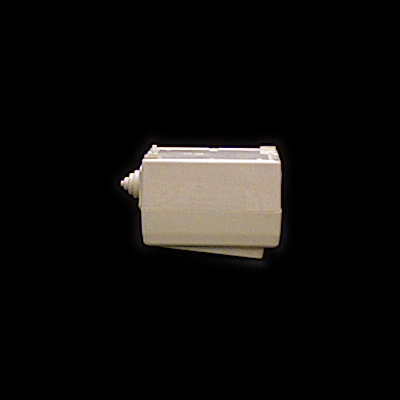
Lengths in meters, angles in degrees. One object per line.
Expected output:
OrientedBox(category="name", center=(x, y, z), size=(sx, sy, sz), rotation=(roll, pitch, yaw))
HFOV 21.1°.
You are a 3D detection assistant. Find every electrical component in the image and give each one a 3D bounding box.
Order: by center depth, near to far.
OrientedBox(category="electrical component", center=(0.000, 0.000, 0.647), size=(0.096, 0.061, 0.061), rotation=(1, 11, 1))
